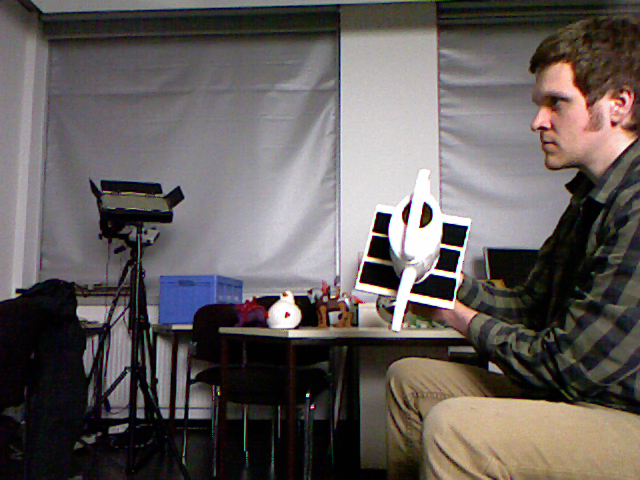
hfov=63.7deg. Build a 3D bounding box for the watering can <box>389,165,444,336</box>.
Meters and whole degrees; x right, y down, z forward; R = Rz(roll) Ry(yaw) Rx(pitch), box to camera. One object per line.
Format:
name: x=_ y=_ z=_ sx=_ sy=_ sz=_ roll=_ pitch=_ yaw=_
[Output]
watering can: x=0.180 y=0.028 z=1.005 sx=0.104 sy=0.354 sz=0.221 roll=10 pitch=-20 yaw=15
